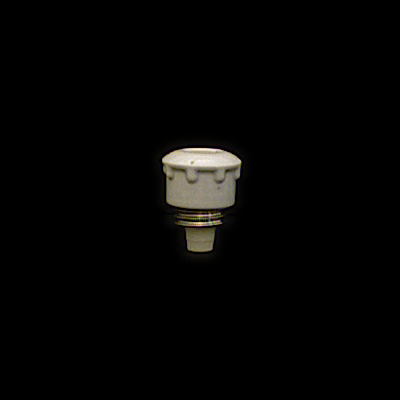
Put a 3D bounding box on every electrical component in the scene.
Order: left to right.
[{"bbox_3d":[0.000,0.000,0.654,0.048,0.062,0.048,1,11,0],"label":"electrical component"}]
